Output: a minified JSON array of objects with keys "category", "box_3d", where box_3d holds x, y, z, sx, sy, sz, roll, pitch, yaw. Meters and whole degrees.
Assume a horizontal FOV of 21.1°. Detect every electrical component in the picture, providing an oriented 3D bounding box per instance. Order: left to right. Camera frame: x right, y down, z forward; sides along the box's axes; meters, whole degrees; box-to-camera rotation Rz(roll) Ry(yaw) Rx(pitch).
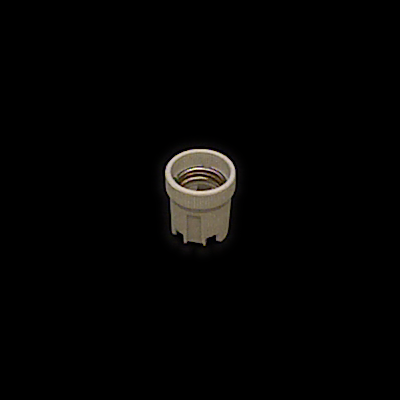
[{"category":"electrical component","box_3d":[0.000,0.000,0.631,0.040,0.047,0.039,1,42,0]}]
